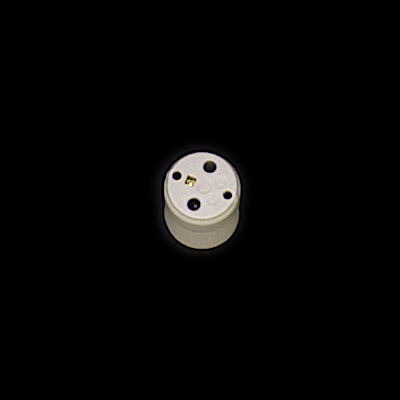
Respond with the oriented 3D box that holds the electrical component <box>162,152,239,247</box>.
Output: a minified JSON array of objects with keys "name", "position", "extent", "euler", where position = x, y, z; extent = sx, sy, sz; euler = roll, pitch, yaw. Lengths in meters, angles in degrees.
[{"name":"electrical component","position":[0.000,0.000,0.629],"extent":[0.045,0.045,0.055],"euler":[0,-17,0]}]
